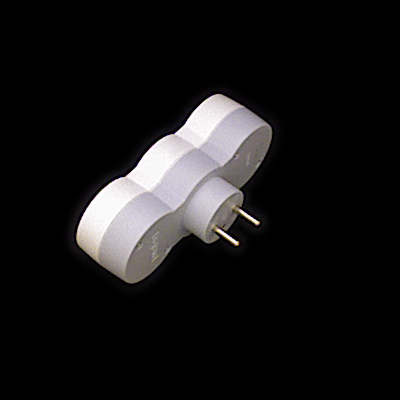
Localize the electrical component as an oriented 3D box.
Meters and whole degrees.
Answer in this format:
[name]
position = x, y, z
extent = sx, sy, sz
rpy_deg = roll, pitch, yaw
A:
[electrical component]
position = 0.000, 0.000, 0.633
extent = 0.073, 0.138, 0.052
rpy_deg = 35, -31, 21
